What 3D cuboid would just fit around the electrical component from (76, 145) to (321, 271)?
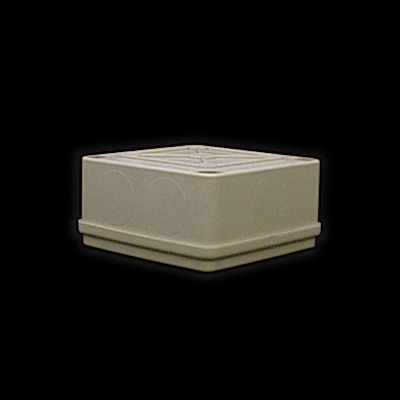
[{"bbox_3d":[0.000,0.000,0.647,0.108,0.056,0.109,10,13,40],"label":"electrical component"}]
